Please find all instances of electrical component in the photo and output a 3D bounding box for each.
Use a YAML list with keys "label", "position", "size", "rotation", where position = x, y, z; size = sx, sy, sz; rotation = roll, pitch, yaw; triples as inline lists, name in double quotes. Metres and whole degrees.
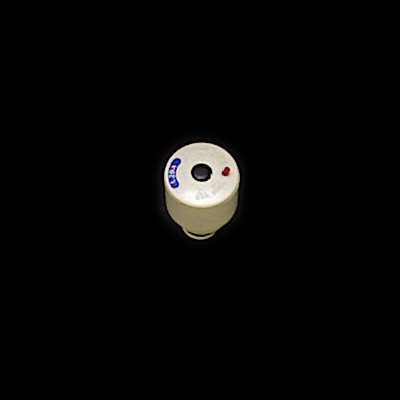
- label: "electrical component"
  position: [0.000, 0.000, 0.617]
  size: [0.040, 0.040, 0.078]
  rotation: [0, -27, -1]
